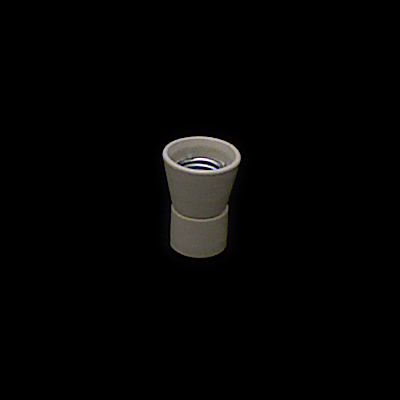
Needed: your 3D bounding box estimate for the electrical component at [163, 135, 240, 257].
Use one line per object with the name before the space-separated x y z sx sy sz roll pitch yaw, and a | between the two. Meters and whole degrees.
electrical component | 0.000 0.000 0.635 0.044 0.066 0.044 2 31 -1
